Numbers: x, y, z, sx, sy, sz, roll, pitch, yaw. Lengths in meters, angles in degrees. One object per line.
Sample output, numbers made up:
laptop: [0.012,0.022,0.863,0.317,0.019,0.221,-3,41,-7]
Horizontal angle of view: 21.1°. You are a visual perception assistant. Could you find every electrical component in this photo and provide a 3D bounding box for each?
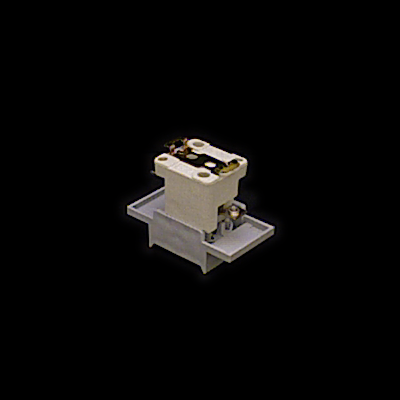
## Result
electrical component: [0.000,0.000,0.634,0.080,0.064,0.042,24,38,33]
